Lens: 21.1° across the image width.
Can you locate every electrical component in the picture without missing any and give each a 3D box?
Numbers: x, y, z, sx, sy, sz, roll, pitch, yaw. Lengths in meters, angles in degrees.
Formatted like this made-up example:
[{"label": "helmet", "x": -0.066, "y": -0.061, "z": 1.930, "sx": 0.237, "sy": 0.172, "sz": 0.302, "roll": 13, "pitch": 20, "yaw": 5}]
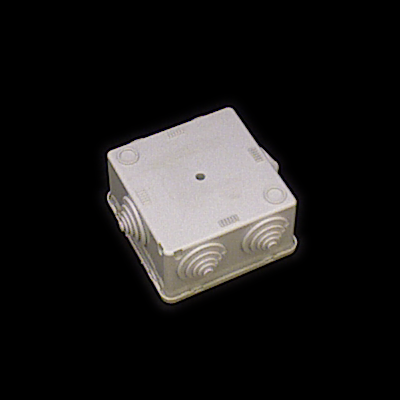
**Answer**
[{"label": "electrical component", "x": 0.000, "y": 0.000, "z": 0.632, "sx": 0.100, "sy": 0.099, "sz": 0.049, "roll": -22, "pitch": -34, "yaw": -16}]
